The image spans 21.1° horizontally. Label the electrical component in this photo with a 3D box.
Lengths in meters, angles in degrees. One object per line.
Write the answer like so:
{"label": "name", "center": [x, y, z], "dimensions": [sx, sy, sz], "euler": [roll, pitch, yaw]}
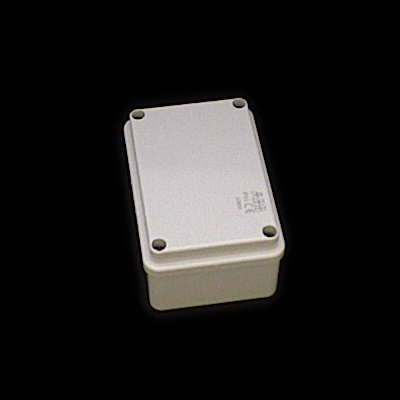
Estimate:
{"label": "electrical component", "center": [0.000, 0.000, 0.629], "dimensions": [0.078, 0.112, 0.057], "euler": [-7, -37, -6]}
